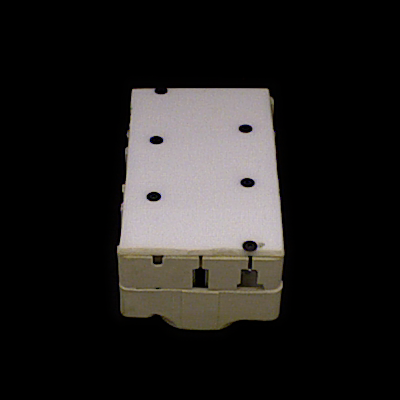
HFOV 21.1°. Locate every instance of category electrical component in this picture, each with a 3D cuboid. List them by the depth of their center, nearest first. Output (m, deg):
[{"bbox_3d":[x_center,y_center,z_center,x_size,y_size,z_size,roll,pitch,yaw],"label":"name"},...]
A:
[{"bbox_3d":[0.000,0.000,0.638,0.089,0.063,0.147,1,41,0],"label":"electrical component"}]
